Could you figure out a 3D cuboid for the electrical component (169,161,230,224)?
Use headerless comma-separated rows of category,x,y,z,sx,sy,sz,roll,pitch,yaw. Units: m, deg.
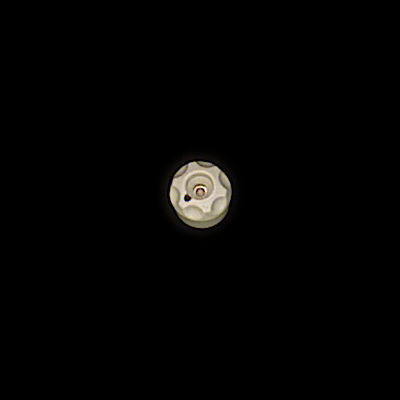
electrical component,0.000,0.000,0.633,0.035,0.035,0.061,0,-16,1
